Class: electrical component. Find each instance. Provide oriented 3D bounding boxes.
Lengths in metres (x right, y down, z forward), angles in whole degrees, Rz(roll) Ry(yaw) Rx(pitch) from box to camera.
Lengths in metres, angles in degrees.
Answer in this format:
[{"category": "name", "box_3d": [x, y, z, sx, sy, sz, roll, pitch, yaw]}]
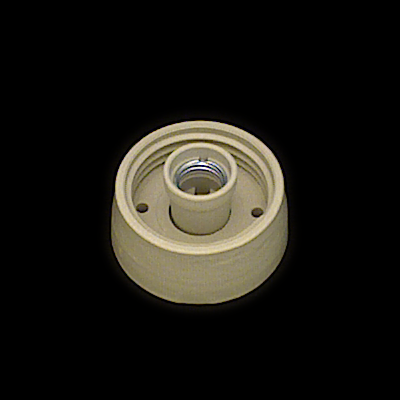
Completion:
[{"category": "electrical component", "box_3d": [0.000, 0.000, 0.634, 0.108, 0.107, 0.060, 0, -37, -1]}]
